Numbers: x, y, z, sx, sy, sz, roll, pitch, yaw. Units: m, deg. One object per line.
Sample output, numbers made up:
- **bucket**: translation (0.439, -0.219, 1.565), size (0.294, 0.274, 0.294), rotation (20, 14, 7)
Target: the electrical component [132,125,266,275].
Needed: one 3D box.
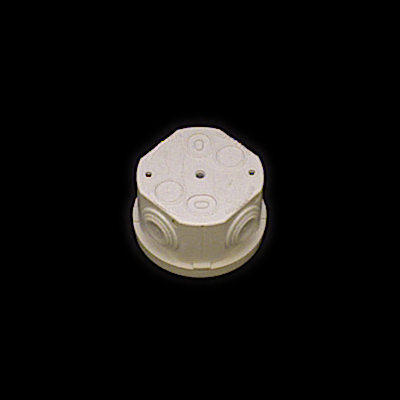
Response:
- **electrical component**: translation (0.000, 0.000, 0.633), size (0.080, 0.080, 0.051), rotation (0, -38, -1)
